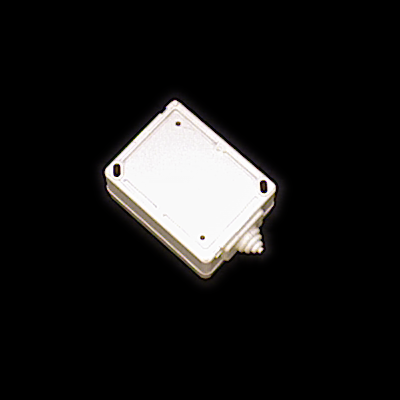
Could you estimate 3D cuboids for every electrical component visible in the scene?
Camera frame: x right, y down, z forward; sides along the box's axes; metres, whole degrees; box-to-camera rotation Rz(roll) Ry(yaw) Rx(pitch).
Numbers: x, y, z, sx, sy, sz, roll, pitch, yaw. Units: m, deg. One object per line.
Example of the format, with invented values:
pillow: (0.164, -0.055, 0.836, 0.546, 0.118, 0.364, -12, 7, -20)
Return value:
electrical component: (0.000, 0.000, 0.627, 0.096, 0.062, 0.060, 41, -13, 10)
